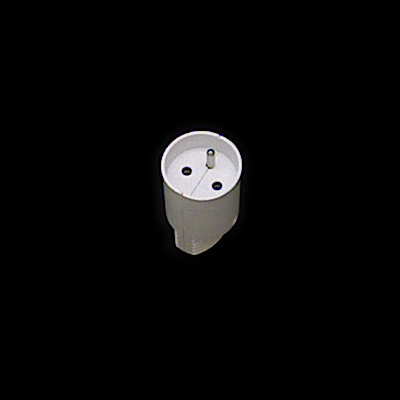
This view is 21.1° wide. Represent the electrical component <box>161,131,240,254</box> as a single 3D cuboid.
[{"bbox_3d":[0.000,0.000,0.617,0.043,0.043,0.081,0,-28,-1],"label":"electrical component"}]
